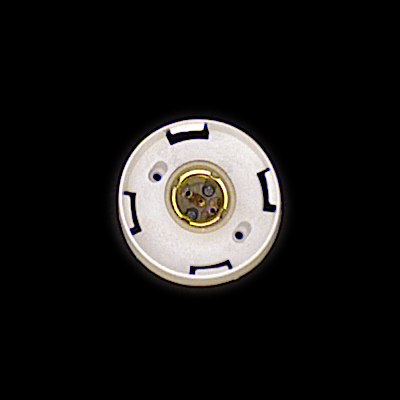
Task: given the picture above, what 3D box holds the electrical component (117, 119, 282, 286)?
[{"bbox_3d":[0.000,0.000,0.625,0.099,0.099,0.064,0,-7,0],"label":"electrical component"}]
